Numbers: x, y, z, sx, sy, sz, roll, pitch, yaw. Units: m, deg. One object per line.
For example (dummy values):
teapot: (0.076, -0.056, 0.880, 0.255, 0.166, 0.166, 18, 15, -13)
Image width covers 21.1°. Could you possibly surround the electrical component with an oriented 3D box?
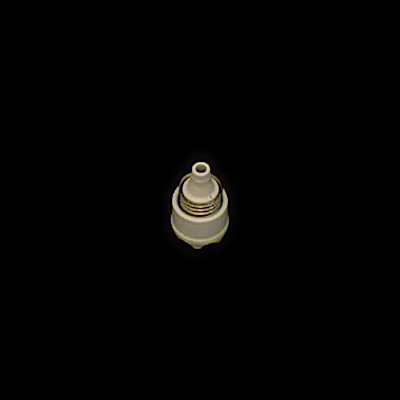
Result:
electrical component: (0.000, 0.000, 0.640, 0.035, 0.035, 0.062, 0, -37, -2)
